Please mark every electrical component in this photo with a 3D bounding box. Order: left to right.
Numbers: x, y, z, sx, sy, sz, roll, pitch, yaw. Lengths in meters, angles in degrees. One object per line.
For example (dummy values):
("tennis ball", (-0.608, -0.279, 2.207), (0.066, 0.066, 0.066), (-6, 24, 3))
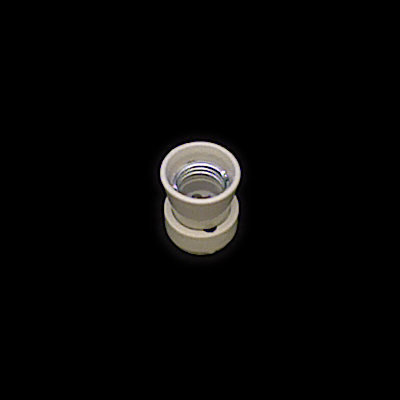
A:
("electrical component", (0.000, 0.000, 0.628), (0.045, 0.044, 0.055), (0, -38, 1))
